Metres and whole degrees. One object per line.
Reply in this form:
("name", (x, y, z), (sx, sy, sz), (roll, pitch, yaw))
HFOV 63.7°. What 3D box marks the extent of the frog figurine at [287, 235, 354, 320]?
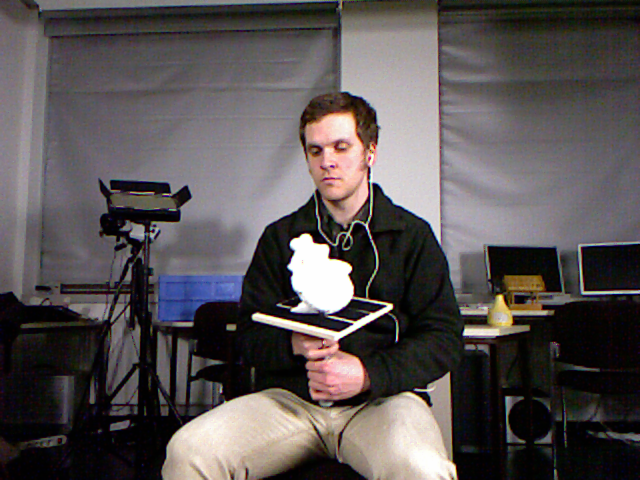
("frog figurine", (0.002, 0.068, 1.008), (0.138, 0.157, 0.124), (-12, 19, -29))
